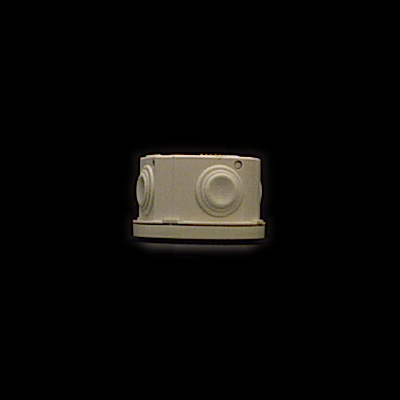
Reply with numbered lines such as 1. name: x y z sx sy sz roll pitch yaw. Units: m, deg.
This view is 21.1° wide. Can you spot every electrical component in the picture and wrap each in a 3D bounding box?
1. electrical component: 0.000 0.000 0.650 0.080 0.051 0.080 1 0 0
